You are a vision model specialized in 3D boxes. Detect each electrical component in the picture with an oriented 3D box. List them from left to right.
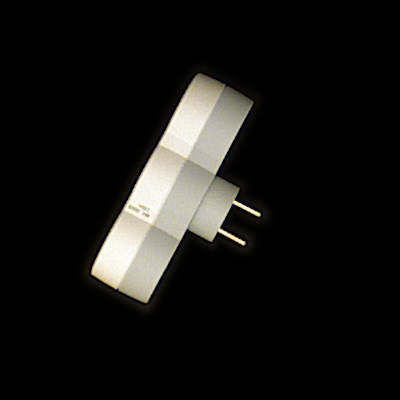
[{"bbox_3d":[0.000,0.000,0.639,0.074,0.138,0.052,28,-5,1],"label":"electrical component"}]
